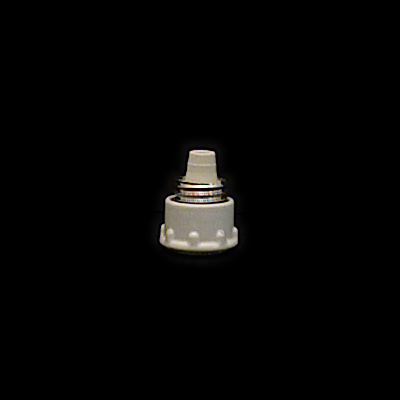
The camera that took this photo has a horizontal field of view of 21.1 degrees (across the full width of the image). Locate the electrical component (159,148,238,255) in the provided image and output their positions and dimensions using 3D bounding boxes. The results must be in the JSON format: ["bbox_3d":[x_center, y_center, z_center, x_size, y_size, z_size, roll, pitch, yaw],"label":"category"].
[{"bbox_3d":[0.000,0.000,0.652,0.048,0.062,0.048,2,12,0],"label":"electrical component"}]
